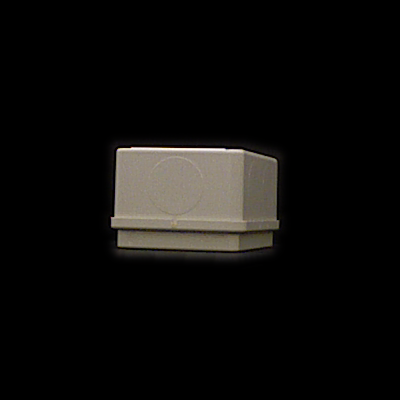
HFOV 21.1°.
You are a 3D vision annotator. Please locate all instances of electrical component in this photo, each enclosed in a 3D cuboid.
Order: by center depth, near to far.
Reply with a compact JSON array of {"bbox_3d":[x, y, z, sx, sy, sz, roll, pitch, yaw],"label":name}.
[{"bbox_3d":[0.000,0.000,0.649,0.078,0.057,0.113,1,1,15],"label":"electrical component"}]
